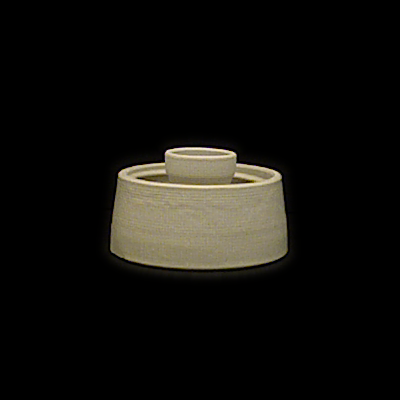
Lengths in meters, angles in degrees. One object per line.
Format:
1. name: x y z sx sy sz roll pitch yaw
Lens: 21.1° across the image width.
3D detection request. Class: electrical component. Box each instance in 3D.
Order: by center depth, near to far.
1. electrical component: 0.000 0.000 0.649 0.108 0.061 0.107 2 11 0
